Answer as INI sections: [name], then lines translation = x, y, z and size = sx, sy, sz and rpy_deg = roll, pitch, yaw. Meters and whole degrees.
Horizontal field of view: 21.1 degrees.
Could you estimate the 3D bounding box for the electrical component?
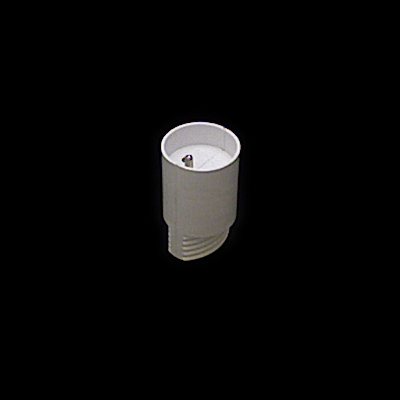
[electrical component]
translation = 0.000, 0.000, 0.621
size = 0.043, 0.082, 0.042
rpy_deg = 0, 42, 0
